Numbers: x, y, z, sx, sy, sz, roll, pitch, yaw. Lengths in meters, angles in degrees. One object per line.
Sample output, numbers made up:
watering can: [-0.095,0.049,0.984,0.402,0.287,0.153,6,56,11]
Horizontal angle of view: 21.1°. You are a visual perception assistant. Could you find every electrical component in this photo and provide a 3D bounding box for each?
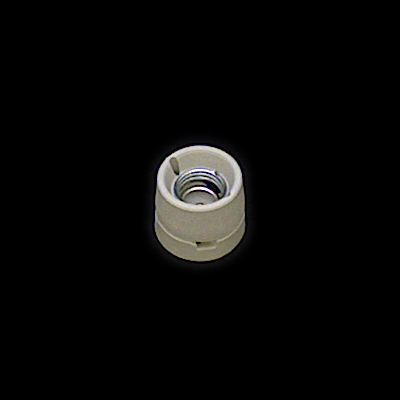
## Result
electrical component: [0.000,0.000,0.634,0.055,0.055,0.047,0,-38,0]
